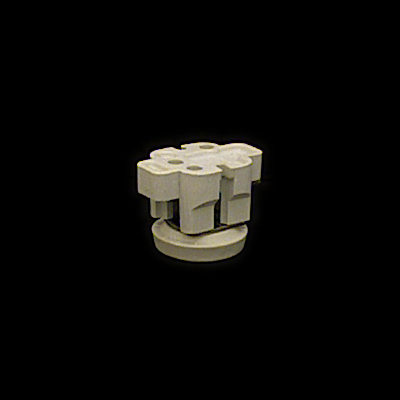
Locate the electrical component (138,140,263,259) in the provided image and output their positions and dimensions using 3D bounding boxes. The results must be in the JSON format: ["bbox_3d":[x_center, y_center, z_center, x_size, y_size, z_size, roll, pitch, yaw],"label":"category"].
[{"bbox_3d":[0.000,0.000,0.648,0.079,0.057,0.057,-13,25,-35],"label":"electrical component"}]
